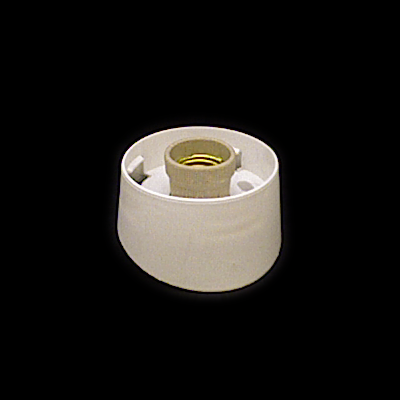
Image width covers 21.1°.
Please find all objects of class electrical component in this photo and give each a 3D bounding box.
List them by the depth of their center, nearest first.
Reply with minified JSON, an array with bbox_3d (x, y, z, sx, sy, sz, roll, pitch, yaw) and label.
[{"bbox_3d":[0.000,0.000,0.633,0.099,0.065,0.097,1,32,0],"label":"electrical component"}]
